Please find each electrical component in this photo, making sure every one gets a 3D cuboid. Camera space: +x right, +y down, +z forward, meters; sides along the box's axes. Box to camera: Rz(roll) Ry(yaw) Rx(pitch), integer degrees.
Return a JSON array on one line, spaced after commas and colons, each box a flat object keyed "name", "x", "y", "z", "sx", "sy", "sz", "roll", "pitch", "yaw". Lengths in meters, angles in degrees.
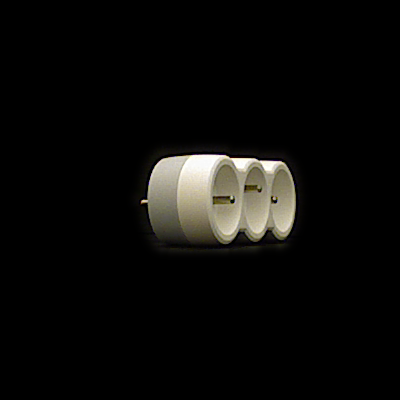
[{"name": "electrical component", "x": 0.000, "y": 0.000, "z": 0.659, "sx": 0.073, "sy": 0.052, "sz": 0.139, "roll": 0, "pitch": 0, "yaw": 25}]
